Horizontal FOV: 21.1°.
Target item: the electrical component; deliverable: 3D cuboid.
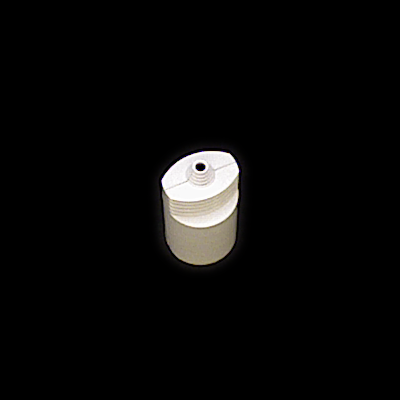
[{"bbox_3d":[0.000,0.000,0.617,0.043,0.043,0.081,0,-27,0],"label":"electrical component"}]
